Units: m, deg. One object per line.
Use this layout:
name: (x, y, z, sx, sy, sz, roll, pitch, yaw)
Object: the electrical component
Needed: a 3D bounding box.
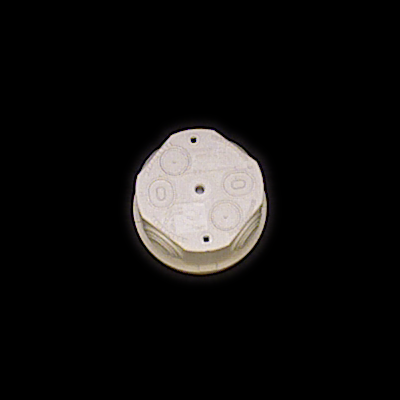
electrical component: (0.000, 0.000, 0.631, 0.080, 0.080, 0.050, 0, -16, 0)
